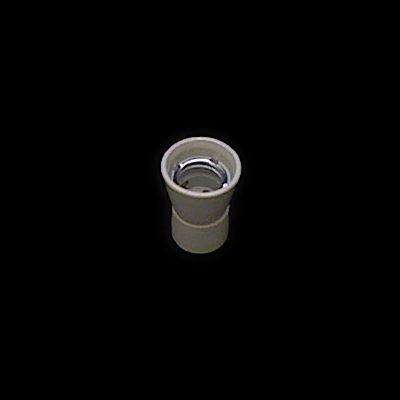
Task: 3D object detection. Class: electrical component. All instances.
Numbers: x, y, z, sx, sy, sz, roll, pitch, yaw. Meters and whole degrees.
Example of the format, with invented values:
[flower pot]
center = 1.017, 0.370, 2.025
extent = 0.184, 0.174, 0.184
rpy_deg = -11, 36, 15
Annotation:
[electrical component]
center = 0.000, 0.000, 0.628
extent = 0.044, 0.044, 0.065
rpy_deg = 0, -39, -1
